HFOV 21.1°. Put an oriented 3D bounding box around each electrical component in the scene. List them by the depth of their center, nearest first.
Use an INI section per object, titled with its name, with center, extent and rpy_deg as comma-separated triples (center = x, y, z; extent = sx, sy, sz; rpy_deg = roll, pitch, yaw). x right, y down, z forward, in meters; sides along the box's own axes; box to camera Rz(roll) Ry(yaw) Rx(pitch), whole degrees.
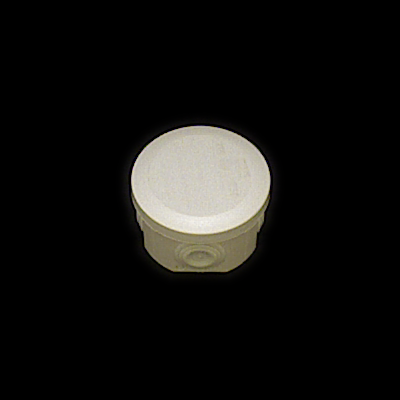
[electrical component]
center = 0.000, 0.000, 0.630
extent = 0.080, 0.080, 0.051
rpy_deg = 0, -38, 0
